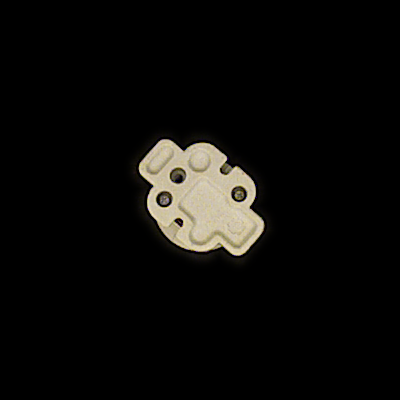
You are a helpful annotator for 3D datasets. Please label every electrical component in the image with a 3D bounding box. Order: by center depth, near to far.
[{"bbox_3d":[0.000,0.000,0.637,0.078,0.058,0.056,40,-5,3],"label":"electrical component"}]
